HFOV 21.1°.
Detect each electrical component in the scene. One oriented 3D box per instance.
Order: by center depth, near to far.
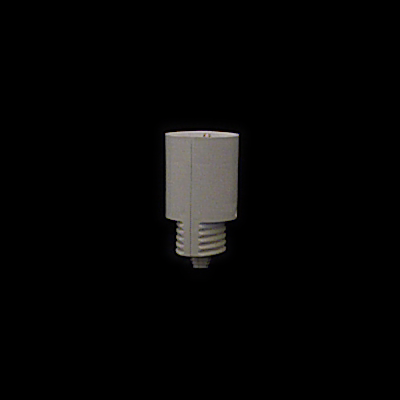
[{"bbox_3d":[0.000,0.000,0.644,0.043,0.082,0.043,2,11,0],"label":"electrical component"}]
